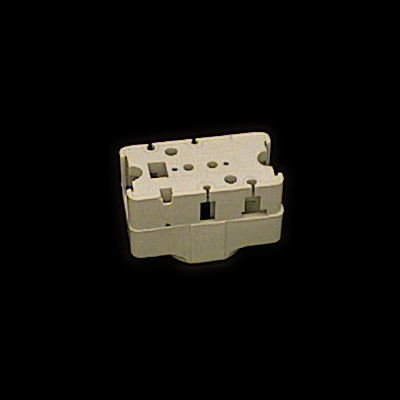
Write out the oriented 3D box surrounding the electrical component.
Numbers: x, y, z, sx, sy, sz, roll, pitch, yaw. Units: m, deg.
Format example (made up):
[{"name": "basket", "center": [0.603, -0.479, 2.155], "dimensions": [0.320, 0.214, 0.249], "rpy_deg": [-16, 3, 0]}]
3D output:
[{"name": "electrical component", "center": [0.000, 0.000, 0.639], "dimensions": [0.090, 0.056, 0.049], "rpy_deg": [-7, 44, -8]}]
